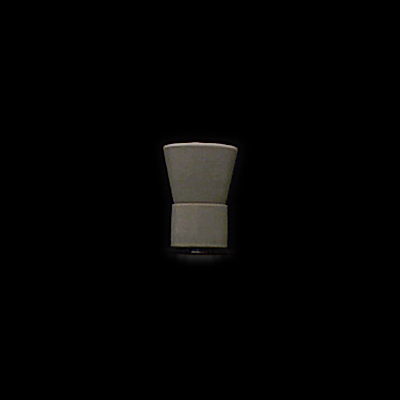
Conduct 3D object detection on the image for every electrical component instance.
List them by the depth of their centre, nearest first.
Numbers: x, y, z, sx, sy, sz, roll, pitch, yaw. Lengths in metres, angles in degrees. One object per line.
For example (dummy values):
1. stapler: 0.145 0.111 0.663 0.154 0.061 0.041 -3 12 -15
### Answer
1. electrical component: 0.000 0.000 0.652 0.044 0.065 0.044 1 0 0
